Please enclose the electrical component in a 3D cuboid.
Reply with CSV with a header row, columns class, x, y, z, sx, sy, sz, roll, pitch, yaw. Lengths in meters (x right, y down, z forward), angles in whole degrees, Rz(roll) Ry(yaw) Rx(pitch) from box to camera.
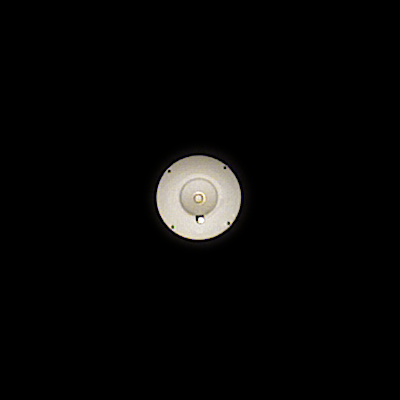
class,x,y,z,sx,sy,sz,roll,pitch,yaw
electrical component,0.000,0.000,0.634,0.048,0.048,0.062,0,-5,1
